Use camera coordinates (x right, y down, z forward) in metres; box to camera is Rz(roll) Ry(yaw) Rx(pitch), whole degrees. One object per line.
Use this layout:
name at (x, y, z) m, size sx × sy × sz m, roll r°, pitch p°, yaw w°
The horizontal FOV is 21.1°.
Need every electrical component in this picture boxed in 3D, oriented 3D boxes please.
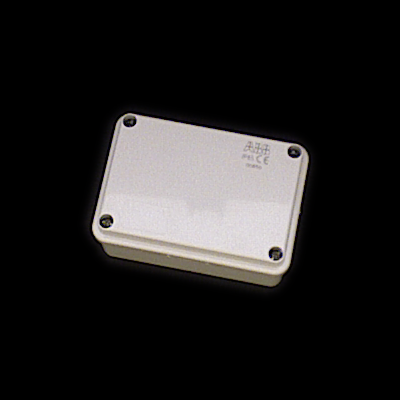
electrical component at (0.000, 0.000, 0.628) m, size 0.113 × 0.078 × 0.057 m, roll 11°, pitch -16°, yaw 3°
